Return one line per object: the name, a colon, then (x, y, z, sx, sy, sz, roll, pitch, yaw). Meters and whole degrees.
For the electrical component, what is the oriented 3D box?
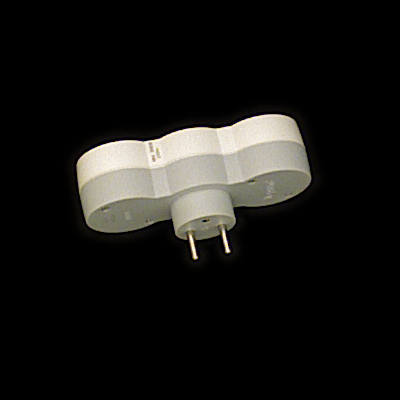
electrical component: (0.000, 0.000, 0.636, 0.138, 0.074, 0.052, -10, -25, -6)
